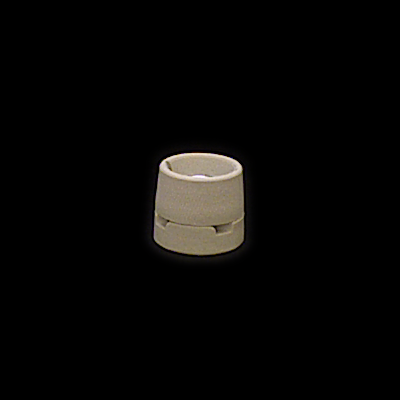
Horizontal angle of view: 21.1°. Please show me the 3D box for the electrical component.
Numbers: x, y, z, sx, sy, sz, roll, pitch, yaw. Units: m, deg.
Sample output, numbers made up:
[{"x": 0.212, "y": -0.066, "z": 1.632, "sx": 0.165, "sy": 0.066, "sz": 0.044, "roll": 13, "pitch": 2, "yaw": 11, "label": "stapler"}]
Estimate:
[{"x": 0.000, "y": 0.000, "z": 0.641, "sx": 0.055, "sy": 0.047, "sz": 0.055, "roll": 2, "pitch": 22, "yaw": -1, "label": "electrical component"}]
